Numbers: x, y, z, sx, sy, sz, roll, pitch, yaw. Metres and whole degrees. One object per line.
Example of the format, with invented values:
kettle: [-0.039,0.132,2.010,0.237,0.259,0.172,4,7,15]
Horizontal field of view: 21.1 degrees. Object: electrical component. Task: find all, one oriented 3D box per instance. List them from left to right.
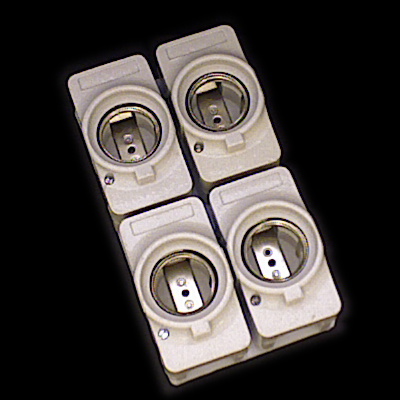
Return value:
electrical component: [0.000,0.000,0.625,0.106,0.187,0.060,-19,-16,-6]
